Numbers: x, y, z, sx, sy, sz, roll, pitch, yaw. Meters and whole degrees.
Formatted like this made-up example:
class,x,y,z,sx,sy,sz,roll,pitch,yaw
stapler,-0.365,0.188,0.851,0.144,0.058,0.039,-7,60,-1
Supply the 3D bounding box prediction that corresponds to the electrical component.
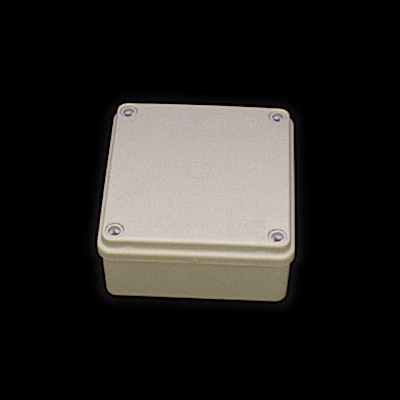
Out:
class,x,y,z,sx,sy,sz,roll,pitch,yaw
electrical component,0.000,0.000,0.631,0.109,0.108,0.056,2,-38,1
